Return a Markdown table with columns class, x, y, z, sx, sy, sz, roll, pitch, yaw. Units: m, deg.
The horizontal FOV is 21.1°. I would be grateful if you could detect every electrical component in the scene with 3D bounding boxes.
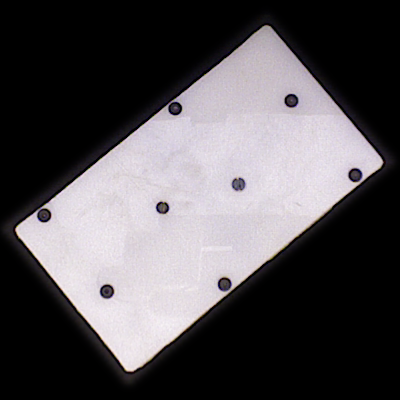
| class | x | y | z | sx | sy | sz | roll | pitch | yaw |
| --- | --- | --- | --- | --- | --- | --- | --- | --- | --- |
| electrical component | 0.000 | 0.000 | 0.625 | 0.186 | 0.105 | 0.060 | -39 | -5 | -4 |
